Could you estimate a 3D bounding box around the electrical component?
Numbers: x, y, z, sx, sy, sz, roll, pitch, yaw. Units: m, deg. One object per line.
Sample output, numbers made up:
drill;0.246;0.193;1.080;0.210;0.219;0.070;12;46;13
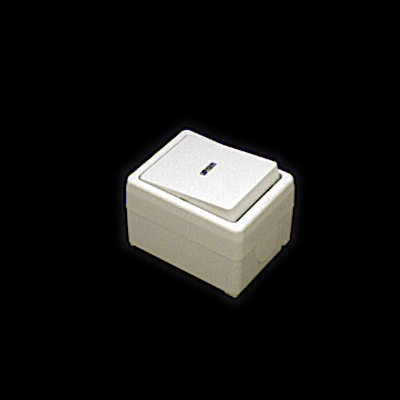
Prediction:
electrical component;0.000;0.000;0.631;0.095;0.061;0.061;25;47;25
